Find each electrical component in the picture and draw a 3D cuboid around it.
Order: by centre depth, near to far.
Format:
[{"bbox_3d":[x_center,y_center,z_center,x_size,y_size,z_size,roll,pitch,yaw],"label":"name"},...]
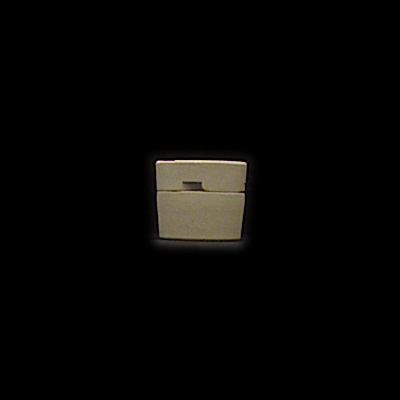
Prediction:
[{"bbox_3d":[0.000,0.000,0.649,0.055,0.047,0.055,1,0,0],"label":"electrical component"}]
